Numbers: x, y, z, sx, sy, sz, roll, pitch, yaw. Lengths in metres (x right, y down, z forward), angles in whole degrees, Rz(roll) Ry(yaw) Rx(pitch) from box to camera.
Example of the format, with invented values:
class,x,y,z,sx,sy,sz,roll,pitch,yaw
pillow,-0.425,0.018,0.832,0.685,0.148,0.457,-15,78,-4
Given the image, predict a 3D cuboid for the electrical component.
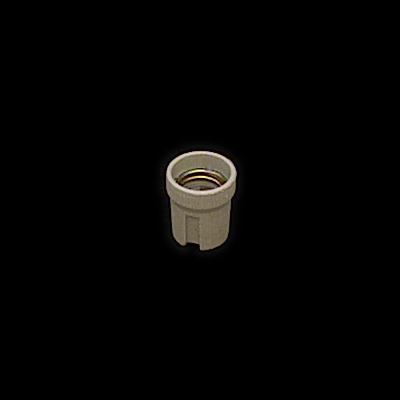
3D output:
class,x,y,z,sx,sy,sz,roll,pitch,yaw
electrical component,0.000,0.000,0.635,0.040,0.047,0.039,1,42,0
